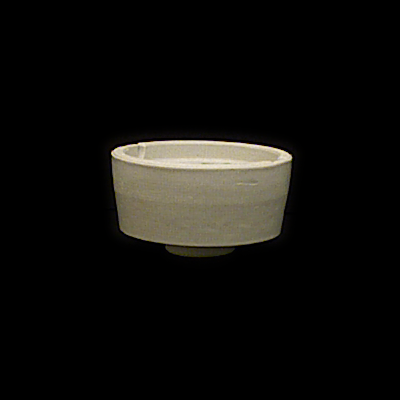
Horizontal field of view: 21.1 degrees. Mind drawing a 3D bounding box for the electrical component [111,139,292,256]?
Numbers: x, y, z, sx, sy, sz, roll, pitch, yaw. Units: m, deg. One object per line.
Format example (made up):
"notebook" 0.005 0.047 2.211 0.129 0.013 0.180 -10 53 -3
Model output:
"electrical component" 0.000 0.000 0.650 0.108 0.061 0.107 2 11 0
